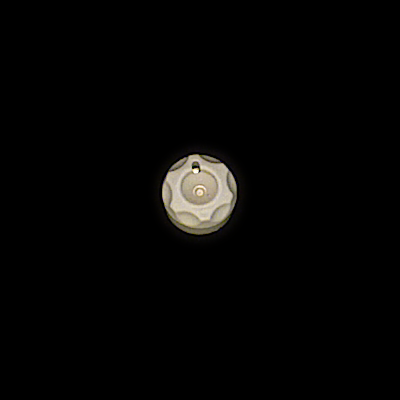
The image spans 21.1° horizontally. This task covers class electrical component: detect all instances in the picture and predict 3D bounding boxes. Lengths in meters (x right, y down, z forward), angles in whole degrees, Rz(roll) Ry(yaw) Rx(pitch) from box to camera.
[{"bbox_3d":[0.000,0.000,0.633,0.043,0.043,0.061,0,-15,0],"label":"electrical component"}]
